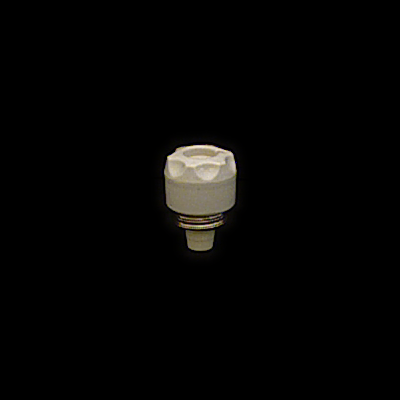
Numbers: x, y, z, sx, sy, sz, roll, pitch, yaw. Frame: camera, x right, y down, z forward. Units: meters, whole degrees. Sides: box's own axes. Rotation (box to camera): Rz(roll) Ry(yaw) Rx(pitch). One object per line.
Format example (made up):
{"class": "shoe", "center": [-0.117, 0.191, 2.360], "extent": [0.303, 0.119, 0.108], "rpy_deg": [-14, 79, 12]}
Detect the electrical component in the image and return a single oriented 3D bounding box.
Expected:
{"class": "electrical component", "center": [0.000, 0.000, 0.645], "extent": [0.043, 0.063, 0.043], "rpy_deg": [0, 23, 0]}
